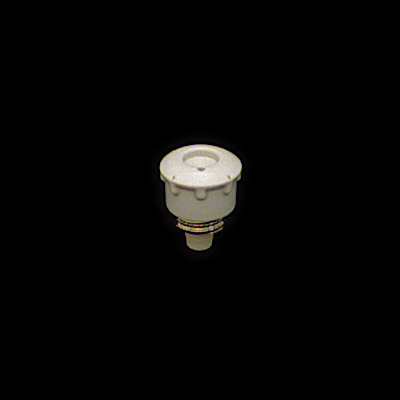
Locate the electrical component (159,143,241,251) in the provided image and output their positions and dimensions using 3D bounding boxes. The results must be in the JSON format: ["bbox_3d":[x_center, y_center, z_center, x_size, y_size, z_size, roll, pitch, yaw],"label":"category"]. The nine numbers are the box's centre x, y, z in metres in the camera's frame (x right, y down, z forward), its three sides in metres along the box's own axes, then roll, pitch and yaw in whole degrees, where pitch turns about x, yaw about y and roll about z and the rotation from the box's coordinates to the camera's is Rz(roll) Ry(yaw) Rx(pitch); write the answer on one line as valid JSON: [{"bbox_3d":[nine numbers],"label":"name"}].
[{"bbox_3d":[0.000,0.000,0.641,0.048,0.063,0.047,1,32,0],"label":"electrical component"}]
